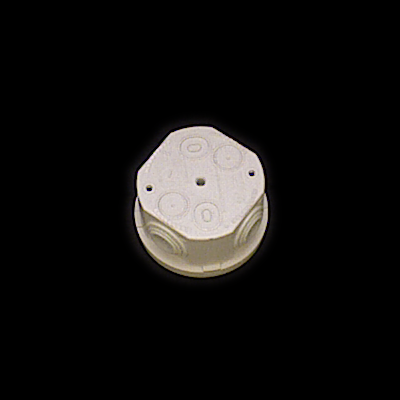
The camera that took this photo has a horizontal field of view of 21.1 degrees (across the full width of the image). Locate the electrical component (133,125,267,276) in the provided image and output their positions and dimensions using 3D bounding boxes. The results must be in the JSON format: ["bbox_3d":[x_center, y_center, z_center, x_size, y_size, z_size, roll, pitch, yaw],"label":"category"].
[{"bbox_3d":[0.000,0.000,0.631,0.080,0.080,0.050,0,-27,1],"label":"electrical component"}]
